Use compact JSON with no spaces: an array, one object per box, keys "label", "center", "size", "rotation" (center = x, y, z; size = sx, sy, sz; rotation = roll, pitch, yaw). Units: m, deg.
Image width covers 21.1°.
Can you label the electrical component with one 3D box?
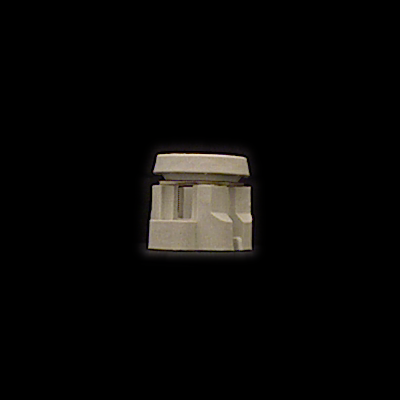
[{"label":"electrical component","center":[0.000,0.000,0.652],"size":[0.057,0.057,0.079],"rotation":[2,1,35]}]
